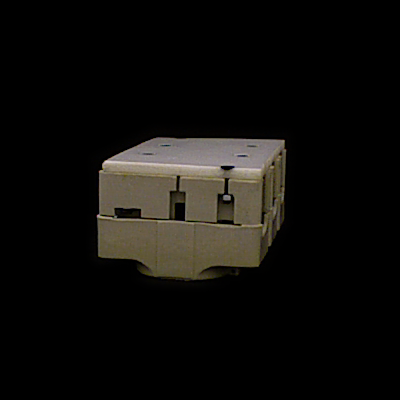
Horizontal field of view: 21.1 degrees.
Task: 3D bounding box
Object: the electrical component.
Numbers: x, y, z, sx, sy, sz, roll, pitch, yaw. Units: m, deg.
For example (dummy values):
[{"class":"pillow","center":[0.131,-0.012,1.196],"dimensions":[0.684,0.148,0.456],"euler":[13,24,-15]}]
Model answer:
[{"class":"electrical component","center":[0.000,0.000,0.647],"dimensions":[0.089,0.062,0.148],"euler":[2,10,9]}]
